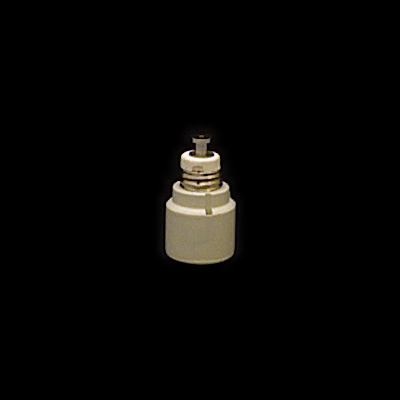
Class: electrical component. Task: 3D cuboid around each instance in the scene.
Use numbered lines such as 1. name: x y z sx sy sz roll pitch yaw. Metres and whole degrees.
1. electrical component: 0.000 0.000 0.634 0.040 0.079 0.039 0 20 0
